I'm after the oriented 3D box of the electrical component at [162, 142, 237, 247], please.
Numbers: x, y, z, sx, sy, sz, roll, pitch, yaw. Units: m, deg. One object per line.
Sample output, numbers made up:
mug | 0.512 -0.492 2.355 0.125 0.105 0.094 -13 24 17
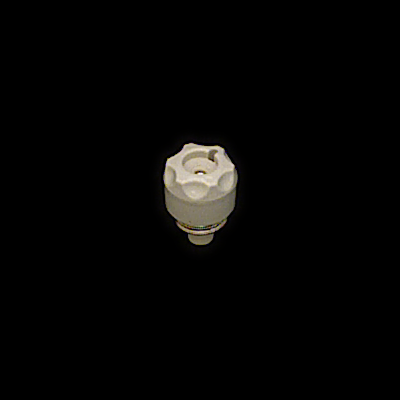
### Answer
electrical component | 0.000 0.000 0.637 0.043 0.062 0.043 0 43 0
